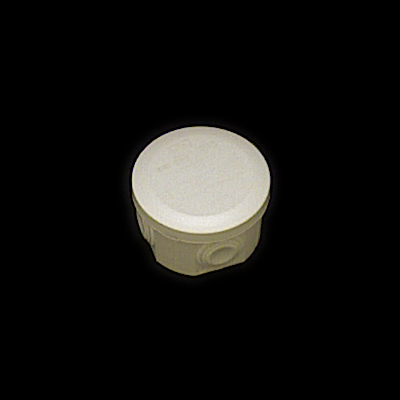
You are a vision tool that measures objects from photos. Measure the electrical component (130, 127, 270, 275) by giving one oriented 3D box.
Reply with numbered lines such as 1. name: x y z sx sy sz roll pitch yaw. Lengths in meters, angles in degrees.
1. electrical component: 0.000 0.000 0.632 0.080 0.080 0.051 0 -38 -1
